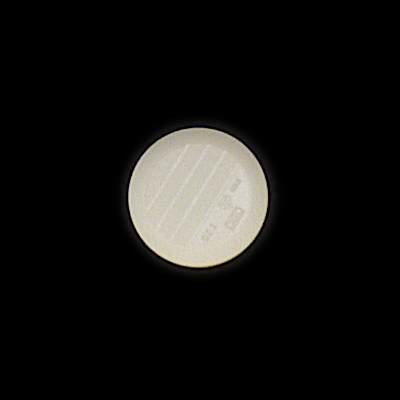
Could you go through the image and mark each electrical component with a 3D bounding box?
[{"bbox_3d":[0.000,0.000,0.631,0.080,0.080,0.050,0,-6,0],"label":"electrical component"}]
